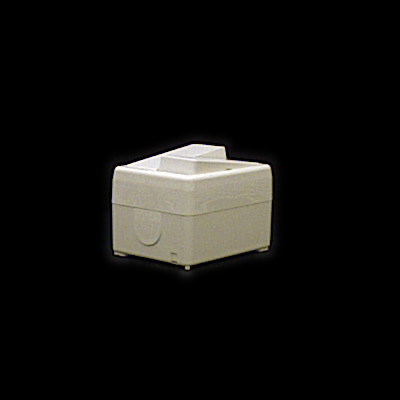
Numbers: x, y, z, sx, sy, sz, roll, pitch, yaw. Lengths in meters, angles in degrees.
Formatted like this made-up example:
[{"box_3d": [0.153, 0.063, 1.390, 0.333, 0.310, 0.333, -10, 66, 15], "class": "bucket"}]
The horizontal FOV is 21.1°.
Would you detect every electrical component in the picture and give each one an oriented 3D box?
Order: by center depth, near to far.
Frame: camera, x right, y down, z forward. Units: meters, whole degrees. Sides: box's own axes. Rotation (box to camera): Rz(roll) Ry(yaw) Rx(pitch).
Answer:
[{"box_3d": [0.000, 0.000, 0.646, 0.061, 0.061, 0.096, 10, 14, 39], "class": "electrical component"}]
